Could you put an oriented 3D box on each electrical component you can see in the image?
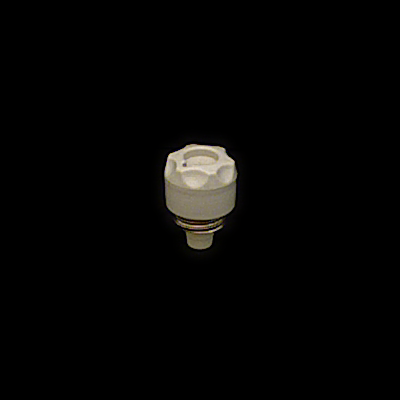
[{"bbox_3d":[0.000,0.000,0.642,0.043,0.063,0.043,1,31,0],"label":"electrical component"}]
